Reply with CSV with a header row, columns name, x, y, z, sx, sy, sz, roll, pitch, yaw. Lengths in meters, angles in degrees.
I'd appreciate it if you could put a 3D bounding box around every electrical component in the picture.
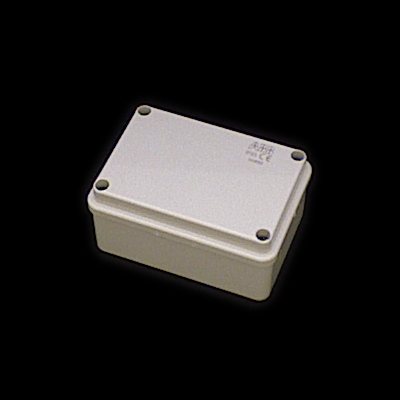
name,x,y,z,sx,sy,sz,roll,pitch,yaw
electrical component,0.000,0.000,0.630,0.113,0.078,0.057,17,-36,12
